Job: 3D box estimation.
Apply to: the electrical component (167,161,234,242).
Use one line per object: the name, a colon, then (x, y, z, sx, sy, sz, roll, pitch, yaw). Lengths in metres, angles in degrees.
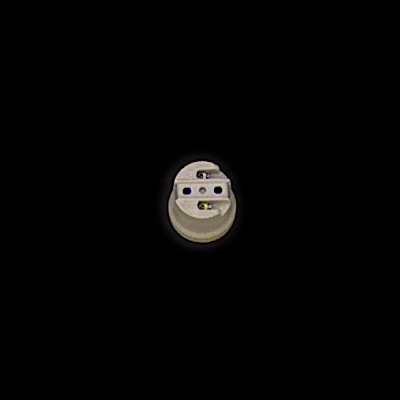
electrical component: (0.000, 0.000, 0.633, 0.040, 0.040, 0.046, 0, -16, 1)
